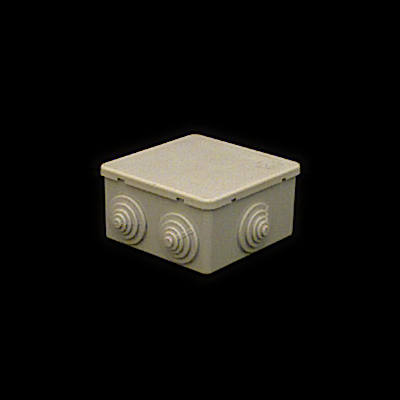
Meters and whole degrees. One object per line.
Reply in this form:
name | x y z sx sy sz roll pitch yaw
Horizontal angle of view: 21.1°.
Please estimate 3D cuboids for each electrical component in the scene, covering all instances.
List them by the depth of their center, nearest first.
electrical component | 0.000 0.000 0.649 0.098 0.049 0.100 19 28 37
